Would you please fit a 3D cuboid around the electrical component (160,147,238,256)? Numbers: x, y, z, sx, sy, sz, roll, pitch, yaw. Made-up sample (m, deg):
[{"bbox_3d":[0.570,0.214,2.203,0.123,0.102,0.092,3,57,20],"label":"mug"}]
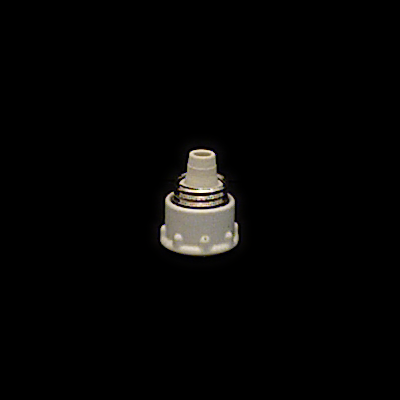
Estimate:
[{"bbox_3d":[0.000,0.000,0.646,0.048,0.063,0.047,2,23,0],"label":"electrical component"}]
